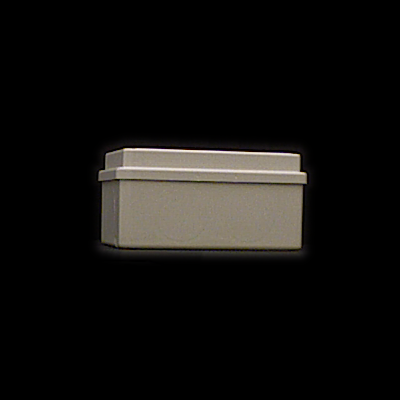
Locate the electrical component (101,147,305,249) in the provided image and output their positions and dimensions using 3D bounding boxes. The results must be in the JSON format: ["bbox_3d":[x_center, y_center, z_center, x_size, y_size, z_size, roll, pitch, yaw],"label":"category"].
[{"bbox_3d":[0.000,0.000,0.651,0.113,0.057,0.078,1,0,-15],"label":"electrical component"}]
